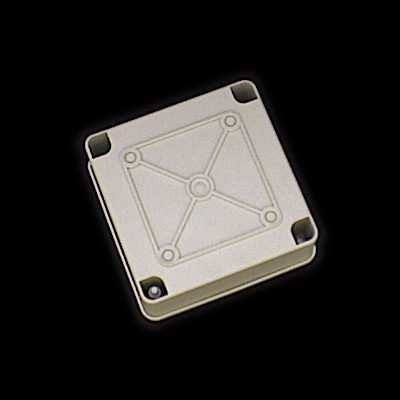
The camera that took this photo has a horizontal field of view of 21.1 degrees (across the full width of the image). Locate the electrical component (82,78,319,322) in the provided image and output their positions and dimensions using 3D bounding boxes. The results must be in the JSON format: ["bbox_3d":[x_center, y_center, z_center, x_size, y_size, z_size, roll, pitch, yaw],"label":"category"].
[{"bbox_3d":[0.000,0.000,0.627,0.109,0.109,0.056,-20,-16,-6],"label":"electrical component"}]
